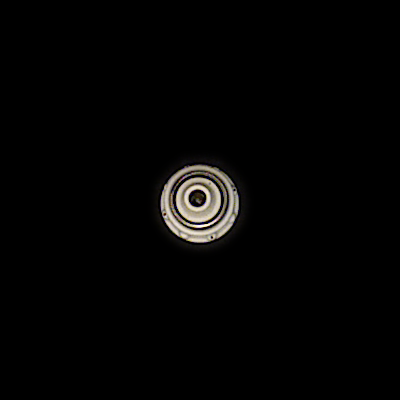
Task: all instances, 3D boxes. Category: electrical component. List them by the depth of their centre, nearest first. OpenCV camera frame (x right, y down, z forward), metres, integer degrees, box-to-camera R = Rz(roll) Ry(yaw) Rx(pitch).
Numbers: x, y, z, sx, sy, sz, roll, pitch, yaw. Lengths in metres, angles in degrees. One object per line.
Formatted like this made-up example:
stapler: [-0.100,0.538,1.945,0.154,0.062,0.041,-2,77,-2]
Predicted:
electrical component: [0.000,0.000,0.634,0.048,0.048,0.062,0,-4,1]
